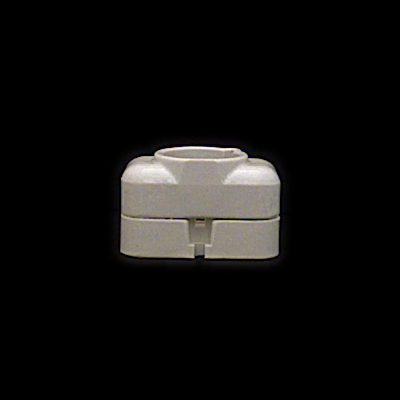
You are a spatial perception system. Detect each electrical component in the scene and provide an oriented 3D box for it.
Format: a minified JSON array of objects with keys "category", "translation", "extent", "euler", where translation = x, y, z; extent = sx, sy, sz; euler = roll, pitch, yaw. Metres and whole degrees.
[{"category":"electrical component","translation":[0.000,0.000,0.652],"extent":[0.095,0.060,0.053],"euler":[1,12,-1]}]
